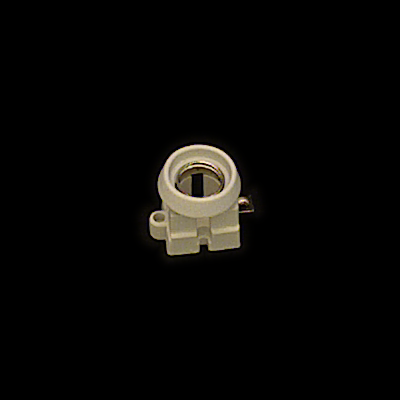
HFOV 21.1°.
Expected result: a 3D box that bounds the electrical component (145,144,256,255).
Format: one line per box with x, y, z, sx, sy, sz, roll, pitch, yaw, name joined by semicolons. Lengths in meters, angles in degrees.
0.000;0.000;0.639;0.066;0.048;0.056;-7;-35;-6;electrical component
